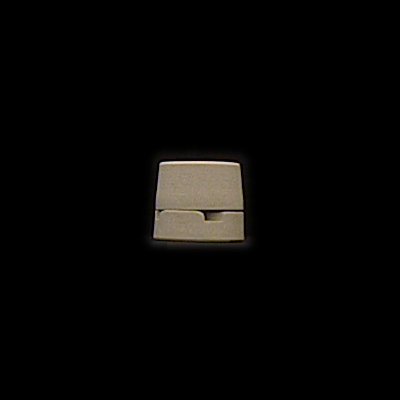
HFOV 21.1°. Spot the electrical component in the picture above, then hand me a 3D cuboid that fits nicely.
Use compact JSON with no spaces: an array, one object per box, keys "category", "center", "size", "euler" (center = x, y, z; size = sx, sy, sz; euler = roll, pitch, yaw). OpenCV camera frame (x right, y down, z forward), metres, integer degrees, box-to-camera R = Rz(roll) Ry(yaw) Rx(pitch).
[{"category":"electrical component","center":[0.000,0.000,0.651],"size":[0.055,0.047,0.055],"euler":[1,0,0]}]
